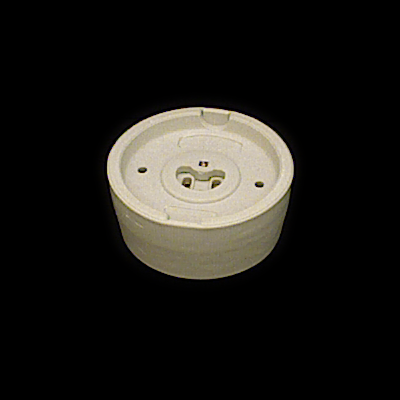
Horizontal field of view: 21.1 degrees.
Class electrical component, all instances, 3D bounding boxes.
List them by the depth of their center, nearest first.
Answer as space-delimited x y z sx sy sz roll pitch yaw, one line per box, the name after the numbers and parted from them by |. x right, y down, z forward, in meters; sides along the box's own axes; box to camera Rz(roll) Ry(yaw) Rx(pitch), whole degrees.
0.000 0.000 0.640 0.108 0.061 0.106 1 43 0 | electrical component
